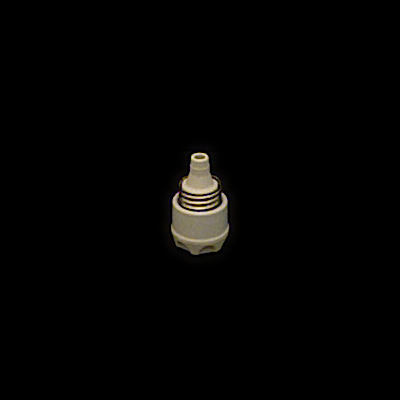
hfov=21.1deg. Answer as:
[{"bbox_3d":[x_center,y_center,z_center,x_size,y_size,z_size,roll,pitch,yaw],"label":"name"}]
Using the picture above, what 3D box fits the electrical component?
[{"bbox_3d":[0.000,0.000,0.645,0.035,0.062,0.034,0,31,0],"label":"electrical component"}]
